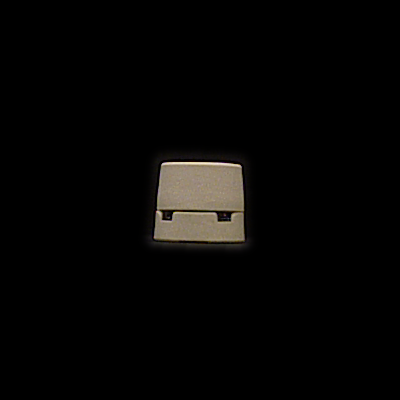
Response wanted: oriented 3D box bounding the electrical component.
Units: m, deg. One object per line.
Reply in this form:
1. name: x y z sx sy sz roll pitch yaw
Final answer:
1. electrical component: 0.000 0.000 0.652 0.055 0.047 0.055 2 0 0
